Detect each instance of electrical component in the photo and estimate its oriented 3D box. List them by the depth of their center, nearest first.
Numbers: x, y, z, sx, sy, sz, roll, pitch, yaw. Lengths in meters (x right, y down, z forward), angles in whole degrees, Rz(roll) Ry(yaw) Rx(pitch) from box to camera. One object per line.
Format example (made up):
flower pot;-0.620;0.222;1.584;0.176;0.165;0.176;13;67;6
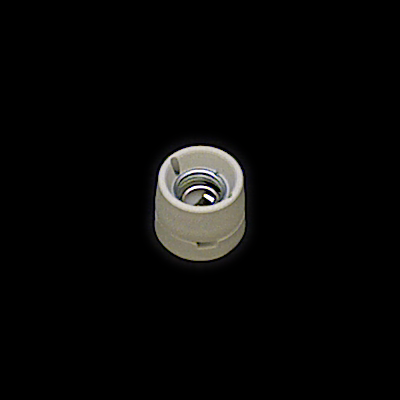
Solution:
electrical component;0.000;0.000;0.633;0.055;0.055;0.047;0;-36;-1
